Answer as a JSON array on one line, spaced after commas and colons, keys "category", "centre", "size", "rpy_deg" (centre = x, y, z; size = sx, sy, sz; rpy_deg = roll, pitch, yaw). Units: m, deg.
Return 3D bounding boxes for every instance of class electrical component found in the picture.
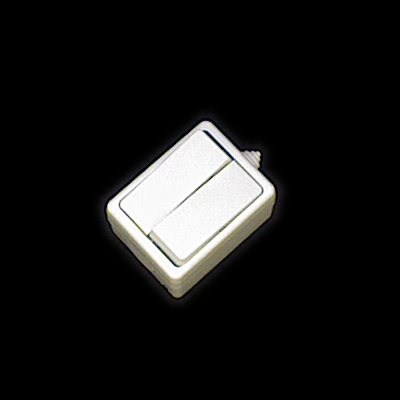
[{"category": "electrical component", "centre": [0.000, 0.000, 0.626], "size": [0.096, 0.062, 0.060], "rpy_deg": [-41, -13, -11]}]
